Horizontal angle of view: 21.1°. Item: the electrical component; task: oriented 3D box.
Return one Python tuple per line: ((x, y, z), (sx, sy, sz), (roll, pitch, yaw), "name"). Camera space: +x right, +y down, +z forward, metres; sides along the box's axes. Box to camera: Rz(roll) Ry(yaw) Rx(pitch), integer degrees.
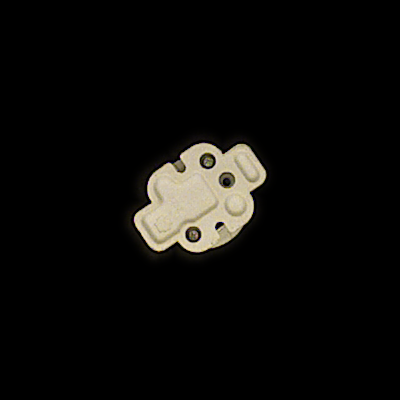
((0.000, 0.000, 0.636), (0.078, 0.058, 0.057), (-35, -4, -1), "electrical component")
